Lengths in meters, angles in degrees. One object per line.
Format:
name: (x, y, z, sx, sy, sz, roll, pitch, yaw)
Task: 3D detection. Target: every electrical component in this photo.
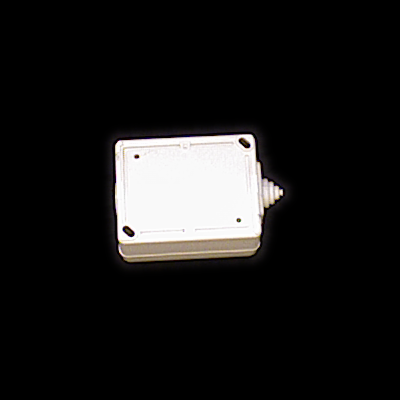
electrical component: (0.000, 0.000, 0.627, 0.096, 0.062, 0.060, -3, -17, -2)
